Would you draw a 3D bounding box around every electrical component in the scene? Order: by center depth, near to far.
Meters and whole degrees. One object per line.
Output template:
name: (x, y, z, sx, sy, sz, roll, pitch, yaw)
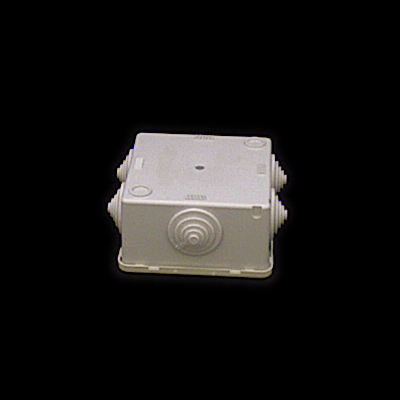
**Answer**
electrical component: (0.000, 0.000, 0.636, 0.100, 0.049, 0.098, 2, 31, 2)
